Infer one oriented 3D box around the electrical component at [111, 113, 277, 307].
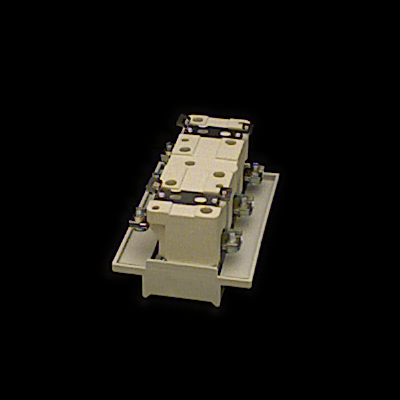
[{"bbox_3d":[0.000,0.000,0.642,0.078,0.064,0.120,7,33,8],"label":"electrical component"}]
